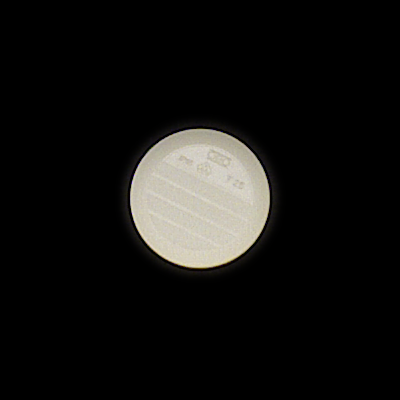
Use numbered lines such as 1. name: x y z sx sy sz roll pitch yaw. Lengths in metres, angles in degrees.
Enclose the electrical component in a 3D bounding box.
1. electrical component: 0.000 0.000 0.631 0.080 0.080 0.050 0 -6 0
